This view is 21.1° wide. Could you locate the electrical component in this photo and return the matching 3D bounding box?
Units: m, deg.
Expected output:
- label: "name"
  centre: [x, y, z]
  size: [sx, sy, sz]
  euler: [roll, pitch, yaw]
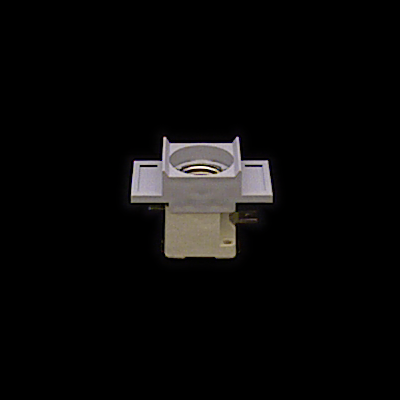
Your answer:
- label: "electrical component"
  centre: [0.000, 0.000, 0.633]
  size: [0.081, 0.064, 0.041]
  euler: [0, 30, 0]
